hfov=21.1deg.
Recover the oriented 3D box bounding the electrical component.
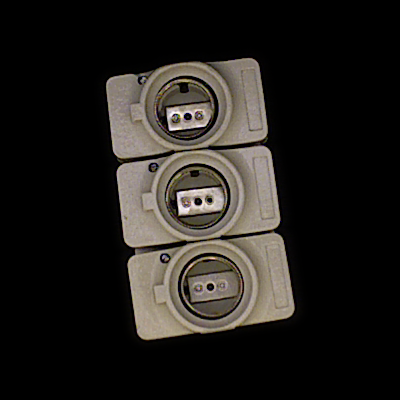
[{"bbox_3d":[0.000,0.000,0.632,0.089,0.150,0.061,-8,-7,0],"label":"electrical component"}]
